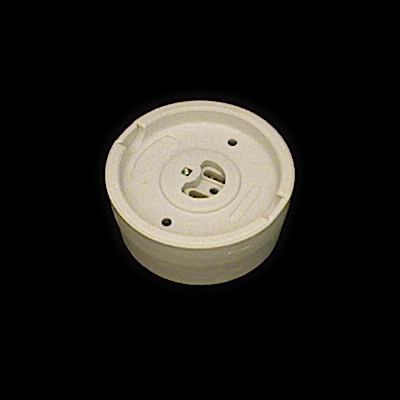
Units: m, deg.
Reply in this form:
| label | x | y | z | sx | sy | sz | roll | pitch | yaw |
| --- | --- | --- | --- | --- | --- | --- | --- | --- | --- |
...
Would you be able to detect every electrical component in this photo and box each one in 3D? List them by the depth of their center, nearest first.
| label | x | y | z | sx | sy | sz | roll | pitch | yaw |
| --- | --- | --- | --- | --- | --- | --- | --- | --- | --- |
| electrical component | 0.000 | 0.000 | 0.635 | 0.108 | 0.107 | 0.060 | 0 | -37 | -1 |
